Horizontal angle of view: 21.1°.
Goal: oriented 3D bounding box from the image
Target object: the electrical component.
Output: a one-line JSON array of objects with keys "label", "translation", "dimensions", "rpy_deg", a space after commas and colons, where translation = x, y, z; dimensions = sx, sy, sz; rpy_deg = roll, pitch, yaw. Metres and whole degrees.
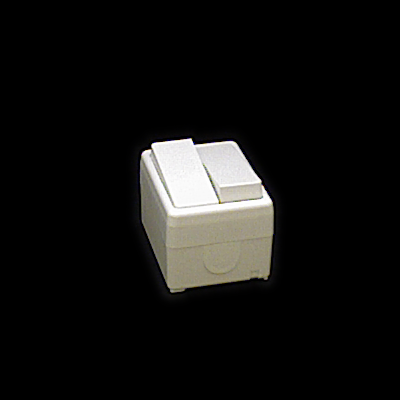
[{"label": "electrical component", "translation": [0.000, 0.000, 0.636], "dimensions": [0.062, 0.061, 0.095], "rpy_deg": [-7, 32, -12]}]
